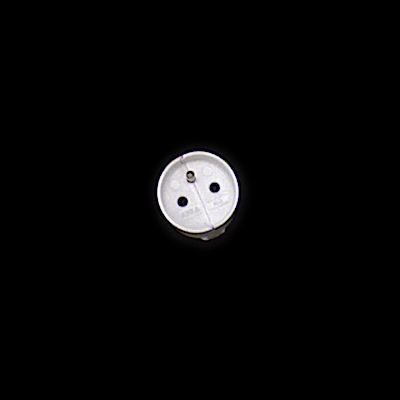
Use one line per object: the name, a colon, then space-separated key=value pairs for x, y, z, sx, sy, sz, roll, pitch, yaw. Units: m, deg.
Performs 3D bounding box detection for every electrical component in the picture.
electrical component: x=0.000 y=0.000 z=0.615 sx=0.043 sy=0.043 sz=0.080 roll=0 pitch=-7 yaw=0
